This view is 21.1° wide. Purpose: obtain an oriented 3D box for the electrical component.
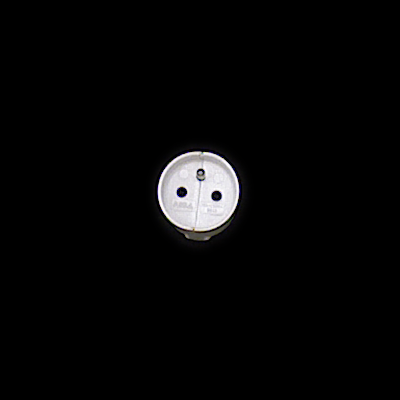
[{"bbox_3d":[0.000,0.000,0.616,0.043,0.043,0.080,0,-7,0],"label":"electrical component"}]
